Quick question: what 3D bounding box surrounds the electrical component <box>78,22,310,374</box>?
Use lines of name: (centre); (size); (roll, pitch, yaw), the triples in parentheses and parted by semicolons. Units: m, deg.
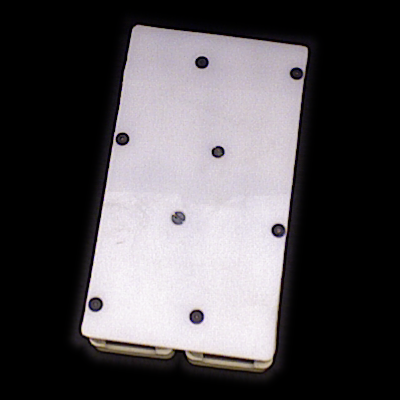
electrical component: (0.000, 0.000, 0.625); (0.105, 0.187, 0.060); (7, -17, 2)
